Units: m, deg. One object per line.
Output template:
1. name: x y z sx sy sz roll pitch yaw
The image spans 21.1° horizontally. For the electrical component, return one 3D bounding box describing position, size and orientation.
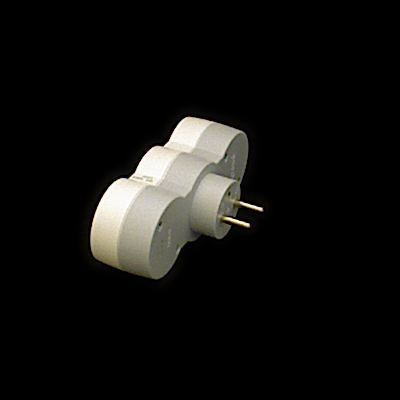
1. electrical component: 0.000 0.000 0.641 0.073 0.053 0.138 17 35 20
